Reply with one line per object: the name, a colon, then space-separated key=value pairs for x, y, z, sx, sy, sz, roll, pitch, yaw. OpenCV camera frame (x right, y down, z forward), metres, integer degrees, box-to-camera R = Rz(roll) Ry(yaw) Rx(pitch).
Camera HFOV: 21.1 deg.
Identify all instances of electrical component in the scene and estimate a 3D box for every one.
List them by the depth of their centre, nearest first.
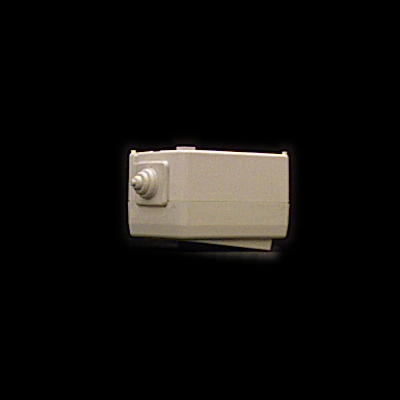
electrical component: x=0.000 y=0.000 z=0.651 sx=0.096 sy=0.061 sz=0.061 roll=0 pitch=1 yaw=-36
